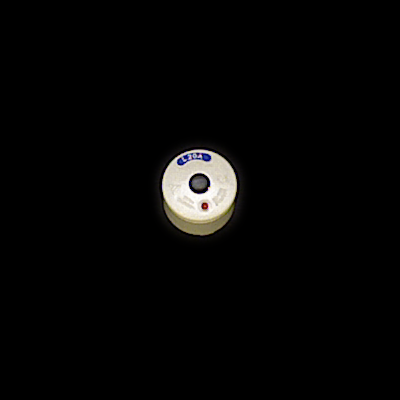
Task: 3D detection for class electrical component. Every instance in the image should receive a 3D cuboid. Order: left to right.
[{"bbox_3d":[0.000,0.000,0.616,0.040,0.040,0.078,0,-16,0],"label":"electrical component"}]
